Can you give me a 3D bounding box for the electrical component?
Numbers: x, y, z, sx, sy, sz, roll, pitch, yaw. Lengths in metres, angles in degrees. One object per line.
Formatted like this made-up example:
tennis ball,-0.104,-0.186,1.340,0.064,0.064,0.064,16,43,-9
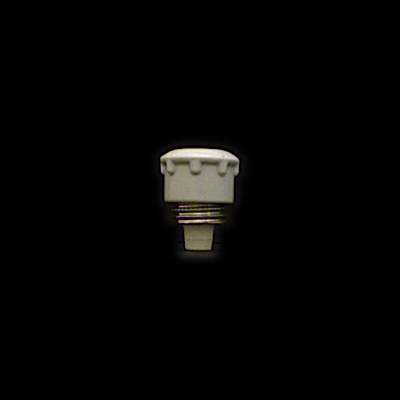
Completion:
electrical component,0.000,0.000,0.654,0.048,0.062,0.048,1,1,0
